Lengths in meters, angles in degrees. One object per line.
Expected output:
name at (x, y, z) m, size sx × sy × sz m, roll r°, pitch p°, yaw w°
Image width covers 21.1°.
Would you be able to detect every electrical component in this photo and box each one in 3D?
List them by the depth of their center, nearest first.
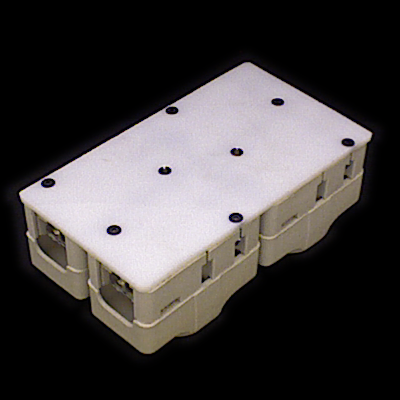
electrical component at (0.000, 0.000, 0.630) m, size 0.186 × 0.061 × 0.105 m, roll -33°, pitch 52°, yaw -32°
